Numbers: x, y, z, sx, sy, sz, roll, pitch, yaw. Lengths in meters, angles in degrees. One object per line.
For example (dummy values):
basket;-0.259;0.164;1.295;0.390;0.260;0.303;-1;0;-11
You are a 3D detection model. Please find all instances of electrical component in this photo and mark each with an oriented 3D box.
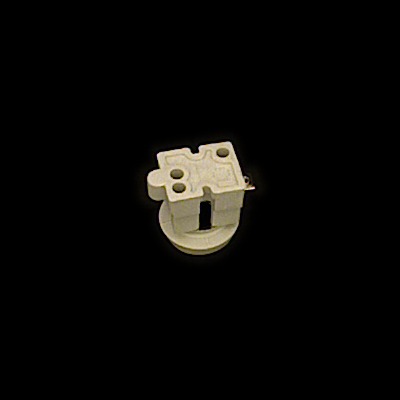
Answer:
electrical component;0.000;0.000;0.638;0.067;0.048;0.055;-10;-37;-9
